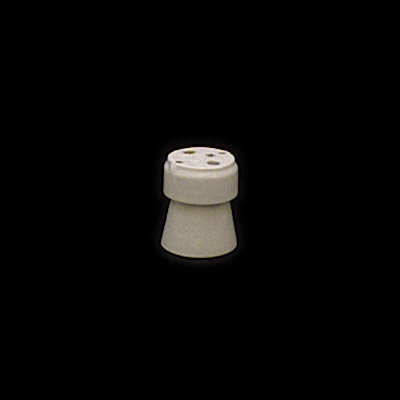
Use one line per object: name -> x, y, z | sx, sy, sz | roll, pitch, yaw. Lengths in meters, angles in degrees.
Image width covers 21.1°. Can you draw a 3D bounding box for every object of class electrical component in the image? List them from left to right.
electrical component -> 0.000, 0.000, 0.639 | 0.045, 0.056, 0.044 | 1, 22, 0
